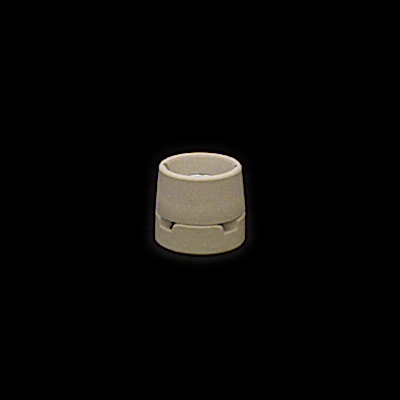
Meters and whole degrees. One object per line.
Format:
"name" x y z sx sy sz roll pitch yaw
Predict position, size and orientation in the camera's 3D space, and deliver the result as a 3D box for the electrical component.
"electrical component" 0.000 0.000 0.642 0.055 0.047 0.055 0 21 0
